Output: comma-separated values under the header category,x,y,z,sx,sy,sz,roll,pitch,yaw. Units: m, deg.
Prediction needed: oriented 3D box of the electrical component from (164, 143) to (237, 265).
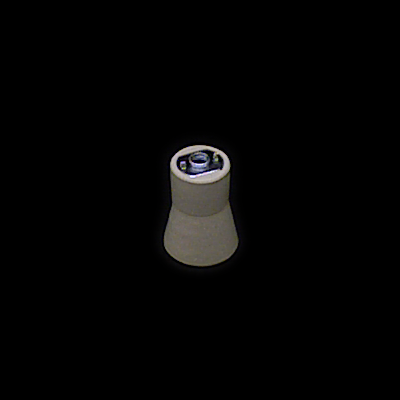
category,x,y,z,sx,sy,sz,roll,pitch,yaw
electrical component,0.000,0.000,0.631,0.044,0.066,0.044,0,41,0
